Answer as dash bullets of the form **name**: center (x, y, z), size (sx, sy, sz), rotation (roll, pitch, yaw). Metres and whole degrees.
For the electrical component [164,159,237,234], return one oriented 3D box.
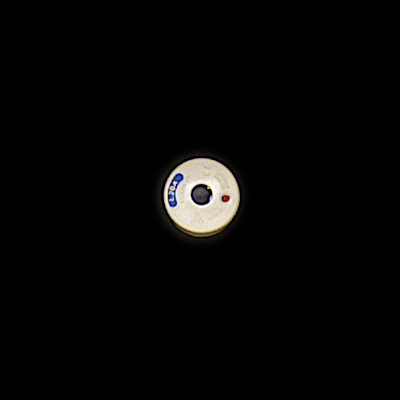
- **electrical component**: center (0.000, 0.000, 0.617), size (0.040, 0.040, 0.078), rotation (0, -6, 0)
